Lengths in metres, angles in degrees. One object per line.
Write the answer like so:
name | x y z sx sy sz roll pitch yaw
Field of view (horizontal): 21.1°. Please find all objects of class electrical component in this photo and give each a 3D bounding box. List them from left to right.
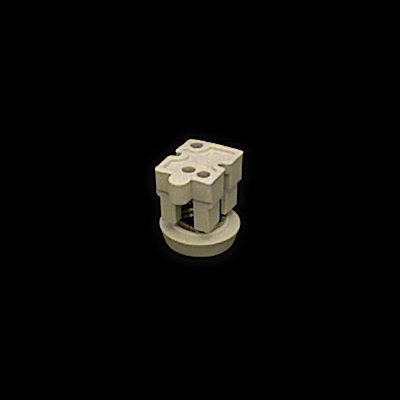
electrical component | 0.000 0.000 0.642 0.048 0.056 0.066 15 34 23
